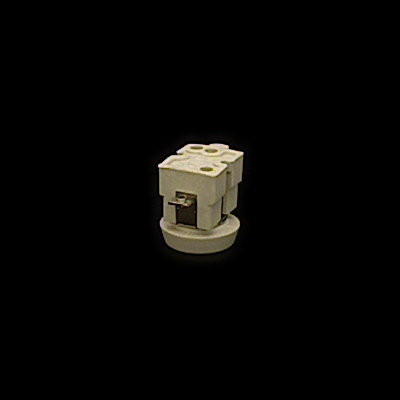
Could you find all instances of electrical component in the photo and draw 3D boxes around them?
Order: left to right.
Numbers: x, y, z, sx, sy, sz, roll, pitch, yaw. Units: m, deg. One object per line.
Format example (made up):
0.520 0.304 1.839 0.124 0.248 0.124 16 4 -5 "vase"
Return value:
0.000 0.000 0.648 0.048 0.056 0.066 12 25 22 "electrical component"
